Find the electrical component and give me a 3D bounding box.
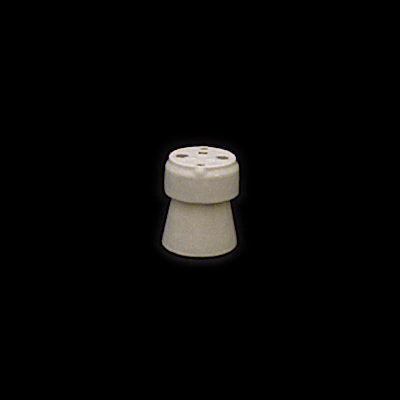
[{"bbox_3d":[0.000,0.000,0.640,0.045,0.056,0.044,1,22,0],"label":"electrical component"}]
